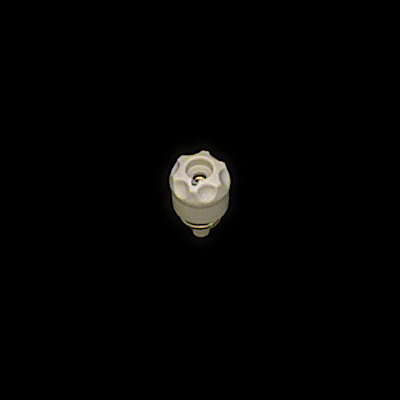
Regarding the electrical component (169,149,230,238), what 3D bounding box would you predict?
[{"bbox_3d":[0.000,0.000,0.634,0.035,0.035,0.061,0,-37,0],"label":"electrical component"}]
